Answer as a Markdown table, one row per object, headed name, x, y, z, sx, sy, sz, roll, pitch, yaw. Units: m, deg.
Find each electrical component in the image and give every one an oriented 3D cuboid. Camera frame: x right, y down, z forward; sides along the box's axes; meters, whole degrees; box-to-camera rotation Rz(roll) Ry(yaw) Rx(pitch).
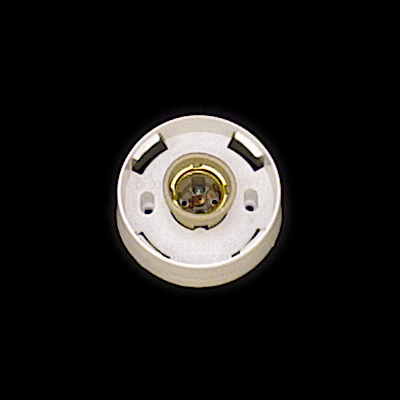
| name | x | y | z | sx | sy | sz | roll | pitch | yaw |
| --- | --- | --- | --- | --- | --- | --- | --- | --- | --- |
| electrical component | 0.000 | 0.000 | 0.625 | 0.099 | 0.099 | 0.064 | 0 | -17 | 0 |
